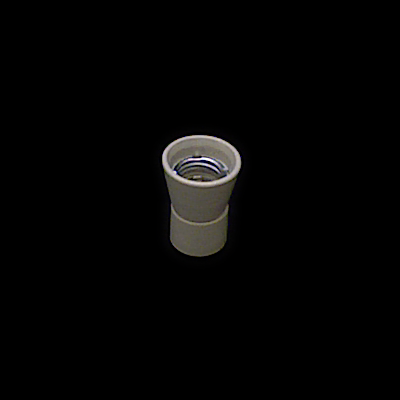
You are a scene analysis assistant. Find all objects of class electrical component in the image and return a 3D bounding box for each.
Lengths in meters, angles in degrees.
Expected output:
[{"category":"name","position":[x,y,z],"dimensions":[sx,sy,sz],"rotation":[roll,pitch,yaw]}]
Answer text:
[{"category":"electrical component","position":[0.000,0.000,0.630],"dimensions":[0.044,0.066,0.044],"rotation":[1,42,-1]}]
